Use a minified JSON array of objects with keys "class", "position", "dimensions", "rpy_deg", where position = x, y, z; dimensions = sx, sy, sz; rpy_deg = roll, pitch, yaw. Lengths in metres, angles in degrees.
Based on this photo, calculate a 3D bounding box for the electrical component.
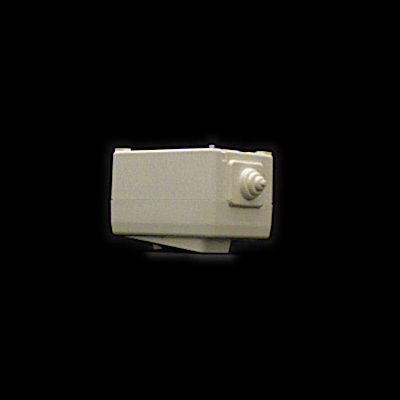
[{"class":"electrical component","position":[0.000,0.000,0.647],"dimensions":[0.096,0.061,0.061],"rpy_deg":[1,-1,40]}]
